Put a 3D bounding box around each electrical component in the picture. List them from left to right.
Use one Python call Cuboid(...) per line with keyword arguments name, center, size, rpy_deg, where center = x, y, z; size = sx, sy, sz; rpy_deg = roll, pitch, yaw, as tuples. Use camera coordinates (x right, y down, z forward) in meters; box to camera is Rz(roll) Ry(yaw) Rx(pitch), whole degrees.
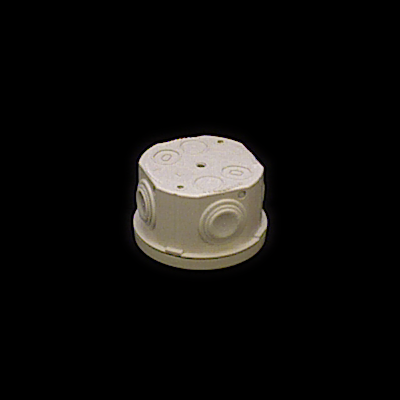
Cuboid(name="electrical component", center=(0.000, 0.000, 0.636), size=(0.080, 0.051, 0.079), rpy_deg=(1, 32, 0))
